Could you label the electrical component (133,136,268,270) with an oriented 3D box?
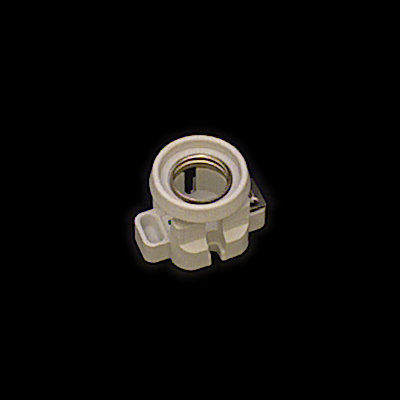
[{"bbox_3d":[0.000,0.000,0.630,0.078,0.057,0.057,-18,-35,-14],"label":"electrical component"}]
